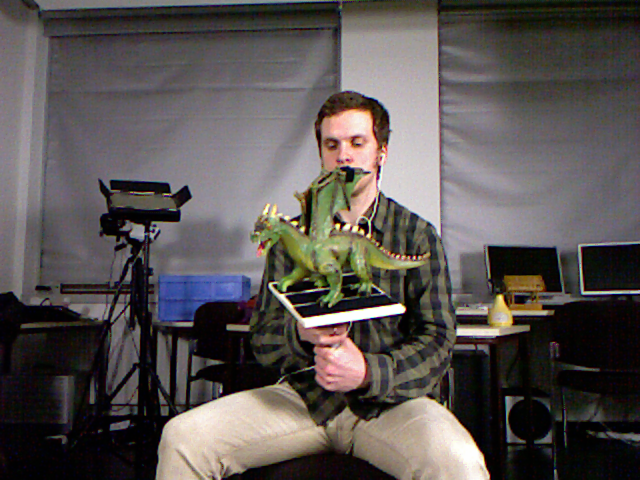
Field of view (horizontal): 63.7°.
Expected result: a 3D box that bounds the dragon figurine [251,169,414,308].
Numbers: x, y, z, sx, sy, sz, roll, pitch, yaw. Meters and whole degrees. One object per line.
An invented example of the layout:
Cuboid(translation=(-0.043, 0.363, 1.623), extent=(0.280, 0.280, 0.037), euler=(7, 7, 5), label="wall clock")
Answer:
Cuboid(translation=(0.041, -0.015, 0.984), extent=(0.414, 0.239, 0.123), euler=(-13, 25, -37), label="dragon figurine")
